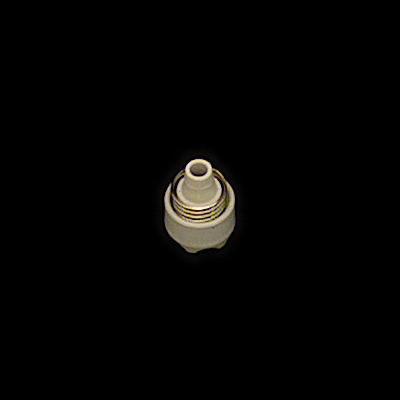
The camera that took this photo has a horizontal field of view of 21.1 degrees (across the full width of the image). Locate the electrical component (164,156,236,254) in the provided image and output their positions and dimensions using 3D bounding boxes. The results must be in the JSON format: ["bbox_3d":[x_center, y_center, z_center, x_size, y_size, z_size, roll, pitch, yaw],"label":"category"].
[{"bbox_3d":[0.000,0.000,0.634,0.043,0.043,0.062,0,-36,1],"label":"electrical component"}]
